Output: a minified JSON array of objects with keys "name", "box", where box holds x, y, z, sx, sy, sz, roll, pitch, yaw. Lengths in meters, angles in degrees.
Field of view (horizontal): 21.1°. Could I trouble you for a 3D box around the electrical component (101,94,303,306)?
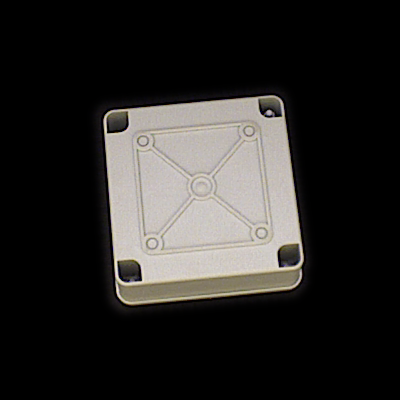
[{"name":"electrical component","box":[0.000,0.000,0.629,0.109,0.109,0.056,-5,-18,-2]}]
